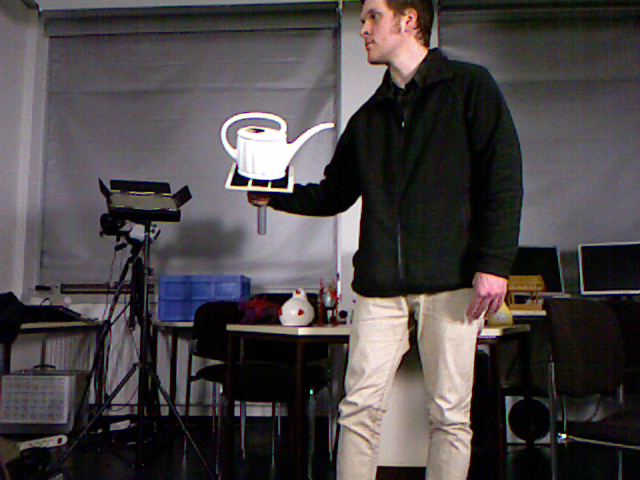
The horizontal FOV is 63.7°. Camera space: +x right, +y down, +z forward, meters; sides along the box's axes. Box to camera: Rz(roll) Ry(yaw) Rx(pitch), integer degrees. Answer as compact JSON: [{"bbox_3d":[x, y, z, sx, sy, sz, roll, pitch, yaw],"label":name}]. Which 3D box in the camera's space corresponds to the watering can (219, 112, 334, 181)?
[{"bbox_3d":[-0.136,-0.283,1.589,0.349,0.220,0.107,3,33,-1],"label":"watering can"}]
